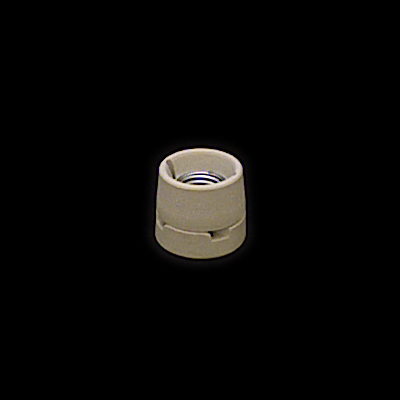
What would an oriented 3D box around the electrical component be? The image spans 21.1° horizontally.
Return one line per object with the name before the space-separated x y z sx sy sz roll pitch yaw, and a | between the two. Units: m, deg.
electrical component | 0.000 0.000 0.638 0.055 0.047 0.055 0 31 0
